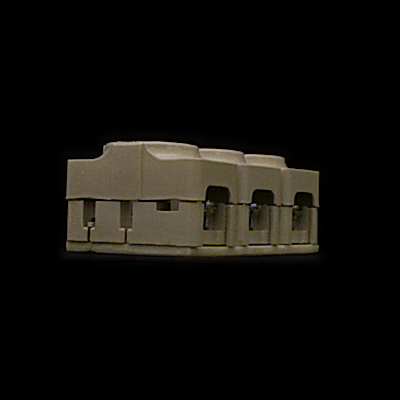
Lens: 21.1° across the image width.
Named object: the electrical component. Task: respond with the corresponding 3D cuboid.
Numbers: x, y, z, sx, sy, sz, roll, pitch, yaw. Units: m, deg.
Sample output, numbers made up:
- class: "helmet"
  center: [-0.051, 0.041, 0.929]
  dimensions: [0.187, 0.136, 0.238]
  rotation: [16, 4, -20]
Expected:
- class: "electrical component"
  center: [0.000, 0.000, 0.657]
  dimensions: [0.089, 0.062, 0.151]
  rotation: [1, -2, 32]
